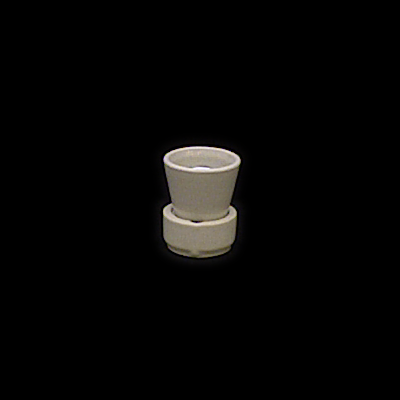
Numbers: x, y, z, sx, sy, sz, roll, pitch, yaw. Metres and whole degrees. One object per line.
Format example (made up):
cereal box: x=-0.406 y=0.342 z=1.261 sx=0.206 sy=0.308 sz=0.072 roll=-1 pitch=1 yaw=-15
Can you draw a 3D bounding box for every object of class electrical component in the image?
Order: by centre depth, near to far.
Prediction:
electrical component: x=0.000 y=0.000 z=0.641 sx=0.045 sy=0.056 sz=0.044 roll=2 pitch=22 yaw=0
